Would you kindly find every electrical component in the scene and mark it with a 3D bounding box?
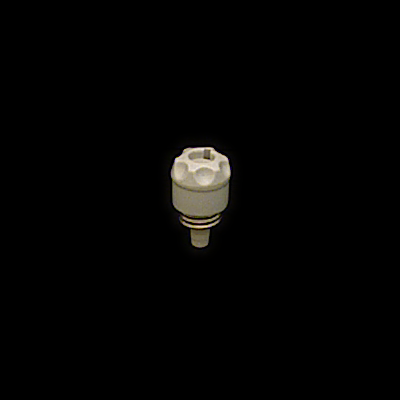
[{"bbox_3d":[0.000,0.000,0.643,0.035,0.062,0.034,1,32,0],"label":"electrical component"}]
